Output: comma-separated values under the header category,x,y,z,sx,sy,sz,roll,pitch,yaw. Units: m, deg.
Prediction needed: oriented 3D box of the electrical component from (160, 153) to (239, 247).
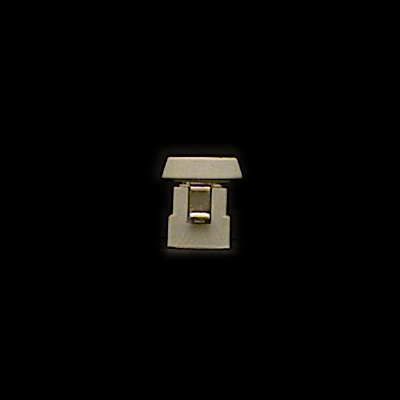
category,x,y,z,sx,sy,sz,roll,pitch,yaw
electrical component,0.000,0.000,0.656,0.048,0.055,0.066,-1,1,0
